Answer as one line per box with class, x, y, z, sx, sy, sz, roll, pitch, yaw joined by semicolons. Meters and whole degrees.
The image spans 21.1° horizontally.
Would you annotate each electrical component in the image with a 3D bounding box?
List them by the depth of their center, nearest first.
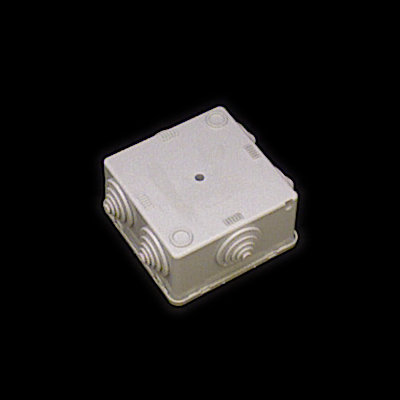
electrical component;0.000;0.000;0.632;0.100;0.099;0.049;-26;-33;-19
